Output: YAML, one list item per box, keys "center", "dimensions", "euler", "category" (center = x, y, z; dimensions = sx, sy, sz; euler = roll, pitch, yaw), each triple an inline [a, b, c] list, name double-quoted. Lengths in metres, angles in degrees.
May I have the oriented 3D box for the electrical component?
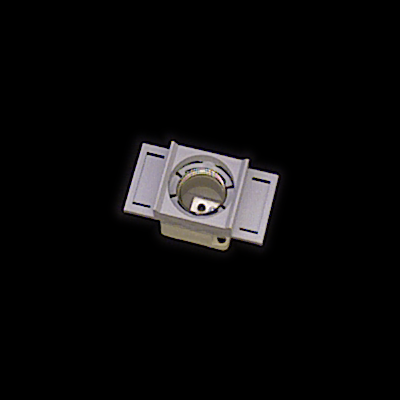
- center: [0.000, 0.000, 0.624]
  dimensions: [0.081, 0.042, 0.063]
  euler: [14, -17, 5]
  category: "electrical component"
